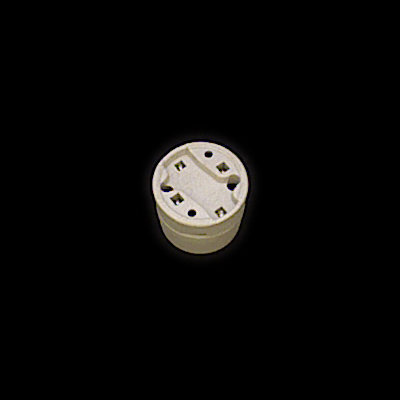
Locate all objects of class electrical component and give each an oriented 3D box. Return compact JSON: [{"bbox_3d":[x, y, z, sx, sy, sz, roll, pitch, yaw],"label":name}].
[{"bbox_3d":[0.000,0.000,0.634,0.055,0.056,0.047,0,-27,-1],"label":"electrical component"}]
